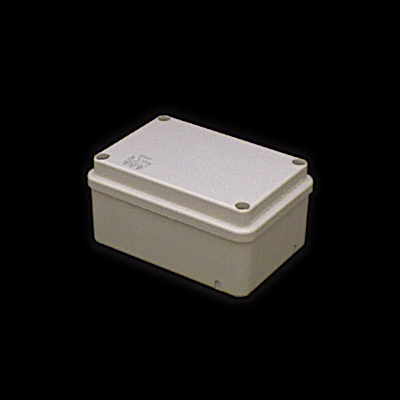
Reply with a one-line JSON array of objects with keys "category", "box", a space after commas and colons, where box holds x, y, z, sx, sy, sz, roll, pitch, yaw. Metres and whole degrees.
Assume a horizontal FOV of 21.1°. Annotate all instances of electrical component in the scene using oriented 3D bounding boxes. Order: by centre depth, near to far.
[{"category": "electrical component", "box": [0.000, 0.000, 0.633, 0.112, 0.058, 0.078, 20, 36, 28]}]
